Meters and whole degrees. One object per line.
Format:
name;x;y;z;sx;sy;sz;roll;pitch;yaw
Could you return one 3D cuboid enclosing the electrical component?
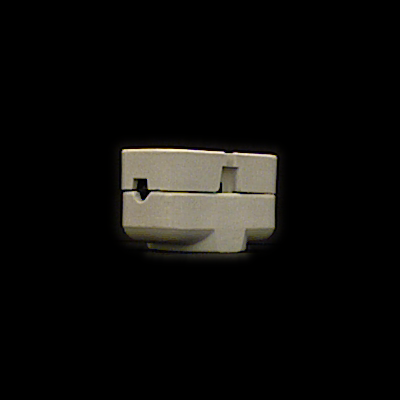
electrical component;0.000;0.000;0.657;0.096;0.059;0.053;0;2;-43
